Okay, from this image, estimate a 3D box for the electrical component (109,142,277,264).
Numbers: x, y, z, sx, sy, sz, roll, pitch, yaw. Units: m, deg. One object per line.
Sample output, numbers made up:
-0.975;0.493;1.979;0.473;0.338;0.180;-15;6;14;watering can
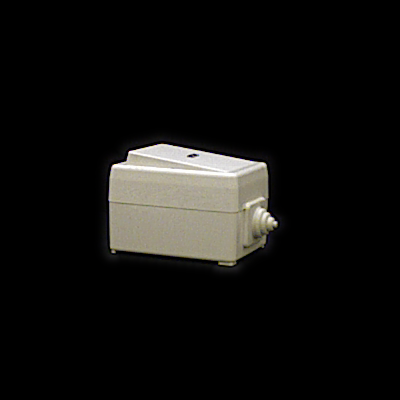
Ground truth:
0.000;0.000;0.643;0.096;0.061;0.061;5;11;21;electrical component
